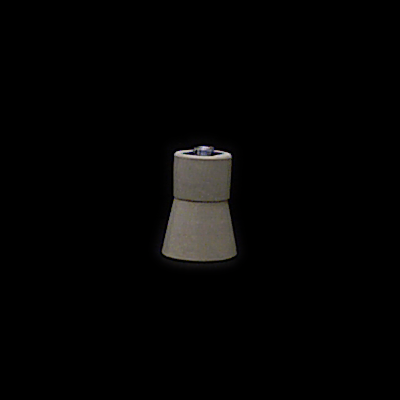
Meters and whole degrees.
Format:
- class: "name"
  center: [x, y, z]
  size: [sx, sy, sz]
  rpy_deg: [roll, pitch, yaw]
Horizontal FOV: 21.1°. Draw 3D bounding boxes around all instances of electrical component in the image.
- class: "electrical component"
  center: [0.000, 0.000, 0.642]
  size: [0.044, 0.066, 0.044]
  rpy_deg: [2, 11, 0]
